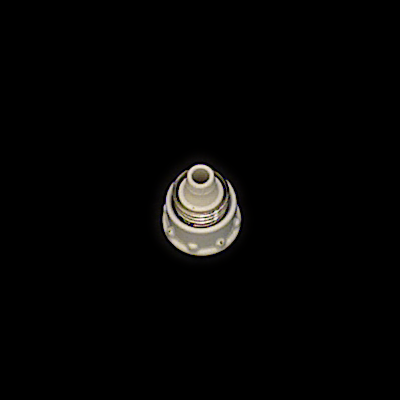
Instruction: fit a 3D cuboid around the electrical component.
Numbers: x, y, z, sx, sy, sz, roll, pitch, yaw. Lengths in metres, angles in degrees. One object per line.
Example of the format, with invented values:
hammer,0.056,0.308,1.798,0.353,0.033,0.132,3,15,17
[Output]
electrical component,0.000,0.000,0.634,0.048,0.048,0.062,0,-28,0
